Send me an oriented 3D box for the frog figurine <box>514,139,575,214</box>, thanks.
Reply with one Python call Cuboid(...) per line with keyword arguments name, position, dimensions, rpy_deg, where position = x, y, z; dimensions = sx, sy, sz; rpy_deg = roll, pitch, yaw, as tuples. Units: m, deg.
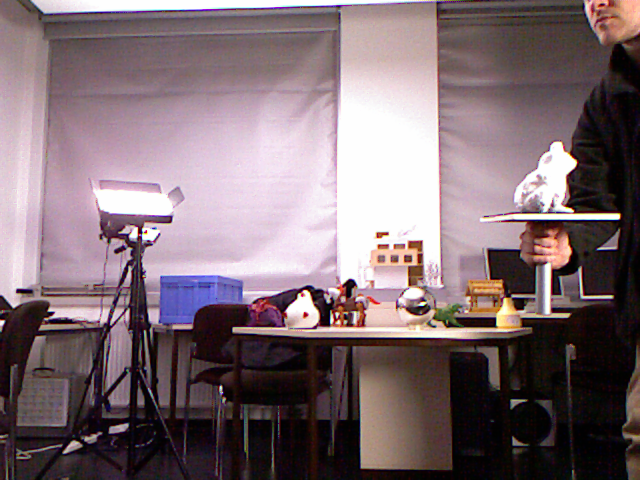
Cuboid(name="frog figurine", position=(0.481, -0.136, 1.102), dimensions=(0.123, 0.159, 0.138), rpy_deg=(1, 4, 16))
